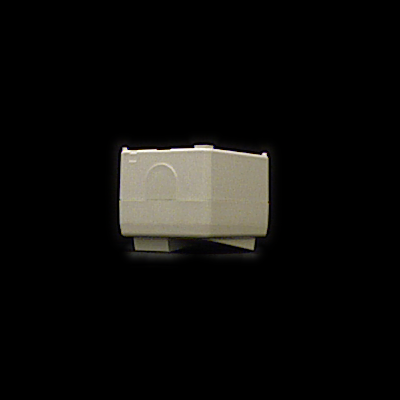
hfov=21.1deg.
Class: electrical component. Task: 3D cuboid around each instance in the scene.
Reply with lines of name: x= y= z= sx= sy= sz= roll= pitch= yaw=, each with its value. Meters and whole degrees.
electrical component: x=0.001 y=0.000 z=0.658 sx=0.061 sy=0.061 sz=0.096 roll=1 pitch=0 yaw=30
